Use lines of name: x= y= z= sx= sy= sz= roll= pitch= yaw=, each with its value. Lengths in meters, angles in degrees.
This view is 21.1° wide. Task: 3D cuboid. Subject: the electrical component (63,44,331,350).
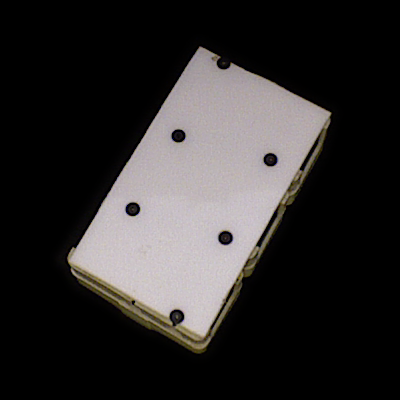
electrical component: x=0.000 y=0.000 z=0.629 sx=0.089 sy=0.150 sz=0.062 roll=29 pitch=-14 yaw=9
